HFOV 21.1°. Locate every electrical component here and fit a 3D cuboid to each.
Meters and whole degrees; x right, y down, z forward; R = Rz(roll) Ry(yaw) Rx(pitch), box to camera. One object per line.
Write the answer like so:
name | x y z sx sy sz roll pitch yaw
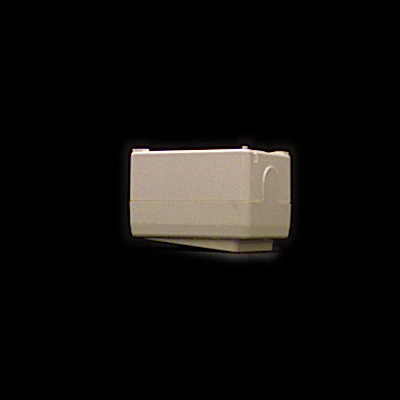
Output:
electrical component | 0.000 0.000 0.653 0.096 0.061 0.062 1 0 29
